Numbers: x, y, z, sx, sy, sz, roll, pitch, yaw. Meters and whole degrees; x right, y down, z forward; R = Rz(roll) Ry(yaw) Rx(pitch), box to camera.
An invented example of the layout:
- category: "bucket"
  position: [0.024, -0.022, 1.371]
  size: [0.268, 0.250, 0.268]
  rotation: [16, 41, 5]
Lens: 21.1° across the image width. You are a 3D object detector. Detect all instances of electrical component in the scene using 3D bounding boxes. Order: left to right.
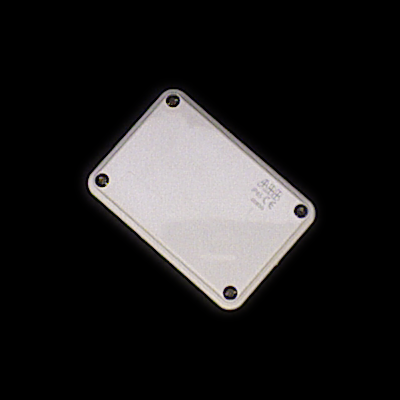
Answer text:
- category: "electrical component"
  position: [0.000, 0.000, 0.628]
  size: [0.113, 0.078, 0.057]
  rotation: [41, -5, 5]
